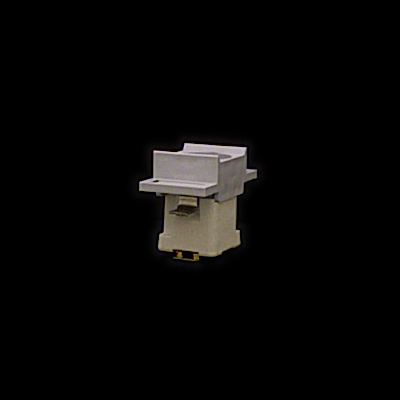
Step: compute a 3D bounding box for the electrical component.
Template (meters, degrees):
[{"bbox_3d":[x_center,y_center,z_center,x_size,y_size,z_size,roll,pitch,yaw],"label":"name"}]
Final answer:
[{"bbox_3d":[0.000,0.000,0.646,0.042,0.064,0.080,5,12,24],"label":"electrical component"}]
